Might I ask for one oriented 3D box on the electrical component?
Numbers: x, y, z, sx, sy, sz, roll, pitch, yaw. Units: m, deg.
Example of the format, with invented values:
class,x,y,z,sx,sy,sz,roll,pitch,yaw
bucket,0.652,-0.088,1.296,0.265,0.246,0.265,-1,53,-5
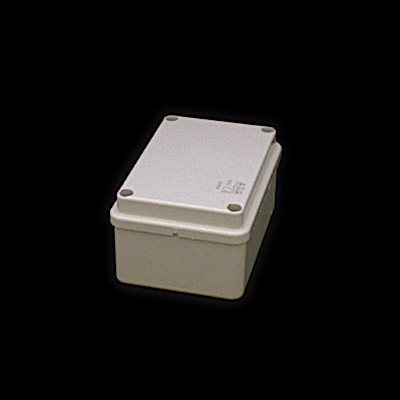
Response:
class,x,y,z,sx,sy,sz,roll,pitch,yaw
electrical component,0.000,0.000,0.634,0.078,0.058,0.112,8,32,11
